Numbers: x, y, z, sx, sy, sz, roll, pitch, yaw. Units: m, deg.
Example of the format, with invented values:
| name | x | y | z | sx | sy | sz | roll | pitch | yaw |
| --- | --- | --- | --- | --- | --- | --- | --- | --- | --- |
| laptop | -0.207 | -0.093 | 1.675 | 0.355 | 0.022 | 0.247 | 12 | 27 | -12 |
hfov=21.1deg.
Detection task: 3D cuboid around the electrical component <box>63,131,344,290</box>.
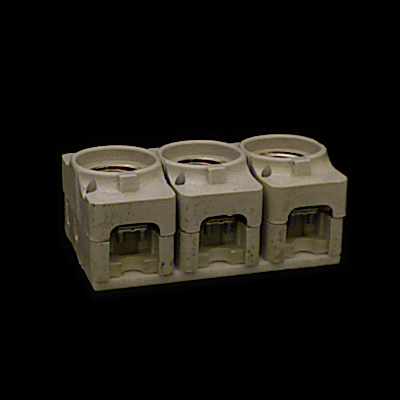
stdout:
| name | x | y | z | sx | sy | sz | roll | pitch | yaw |
| --- | --- | --- | --- | --- | --- | --- | --- | --- | --- |
| electrical component | 0.000 | 0.000 | 0.644 | 0.150 | 0.063 | 0.088 | -6 | 22 | -17 |
